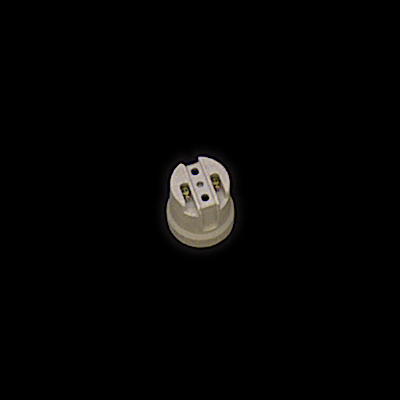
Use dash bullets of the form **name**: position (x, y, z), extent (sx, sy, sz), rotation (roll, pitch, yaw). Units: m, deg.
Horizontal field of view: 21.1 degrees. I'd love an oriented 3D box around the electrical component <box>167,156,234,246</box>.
- **electrical component**: position (0.000, 0.000, 0.632), extent (0.040, 0.040, 0.046), rotation (0, -27, 0)
